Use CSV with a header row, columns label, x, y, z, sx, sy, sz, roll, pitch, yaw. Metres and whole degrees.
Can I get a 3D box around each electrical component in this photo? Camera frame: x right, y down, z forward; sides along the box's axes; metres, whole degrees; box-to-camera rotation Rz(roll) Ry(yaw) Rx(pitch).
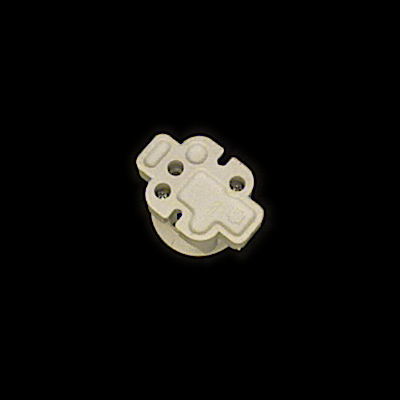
label,x,y,z,sx,sy,sz,roll,pitch,yaw
electrical component,0.000,0.000,0.636,0.078,0.058,0.056,37,-14,8
